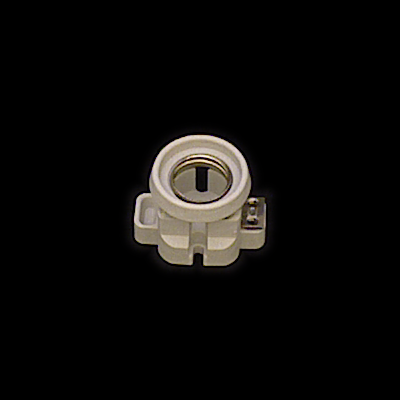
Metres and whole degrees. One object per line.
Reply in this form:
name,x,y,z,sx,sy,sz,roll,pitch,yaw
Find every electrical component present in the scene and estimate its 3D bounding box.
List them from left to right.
electrical component,0.000,0.000,0.630,0.078,0.057,0.057,3,-37,1
